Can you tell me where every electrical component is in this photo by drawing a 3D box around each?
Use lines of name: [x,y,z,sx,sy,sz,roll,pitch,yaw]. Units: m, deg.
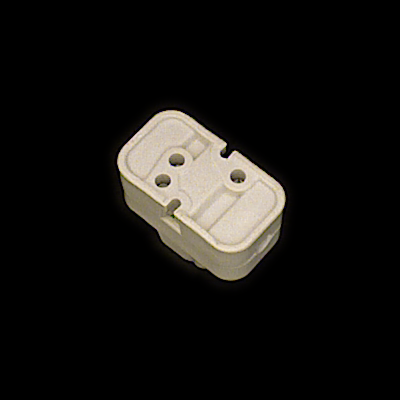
electrical component: [0.000,0.000,0.634,0.095,0.054,0.059,38,-20,16]
